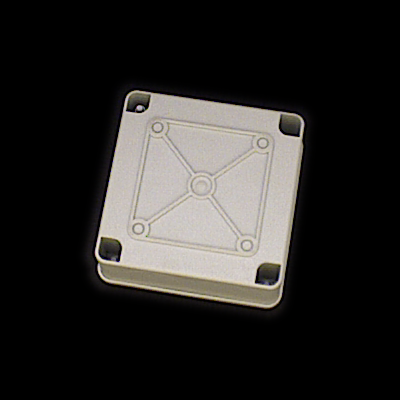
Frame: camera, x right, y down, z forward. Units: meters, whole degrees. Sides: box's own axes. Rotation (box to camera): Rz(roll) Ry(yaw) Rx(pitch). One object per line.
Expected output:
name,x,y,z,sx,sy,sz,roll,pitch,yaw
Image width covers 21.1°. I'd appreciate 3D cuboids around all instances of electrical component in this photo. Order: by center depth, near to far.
electrical component,0.000,0.000,0.628,0.109,0.109,0.056,9,-17,3
